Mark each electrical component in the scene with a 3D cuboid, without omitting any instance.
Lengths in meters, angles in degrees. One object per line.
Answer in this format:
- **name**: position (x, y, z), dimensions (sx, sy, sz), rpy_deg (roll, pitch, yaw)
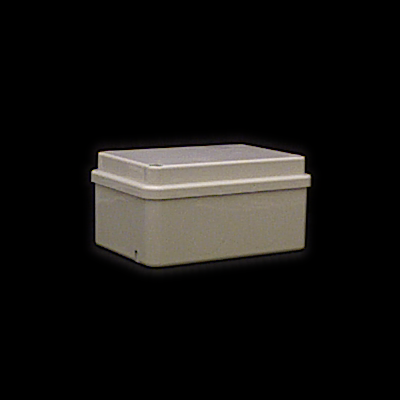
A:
- **electrical component**: position (0.000, 0.000, 0.646), dimensions (0.113, 0.057, 0.077), rpy_deg (-5, 12, -32)
